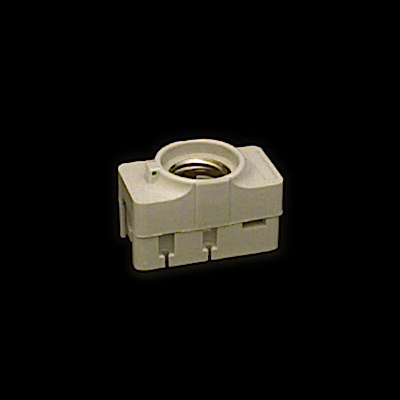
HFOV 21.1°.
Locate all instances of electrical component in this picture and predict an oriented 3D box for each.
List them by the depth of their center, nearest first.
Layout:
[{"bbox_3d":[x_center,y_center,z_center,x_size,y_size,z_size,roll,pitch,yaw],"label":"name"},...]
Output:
[{"bbox_3d":[0.000,0.000,0.643,0.090,0.056,0.049,-9,33,-16],"label":"electrical component"}]
